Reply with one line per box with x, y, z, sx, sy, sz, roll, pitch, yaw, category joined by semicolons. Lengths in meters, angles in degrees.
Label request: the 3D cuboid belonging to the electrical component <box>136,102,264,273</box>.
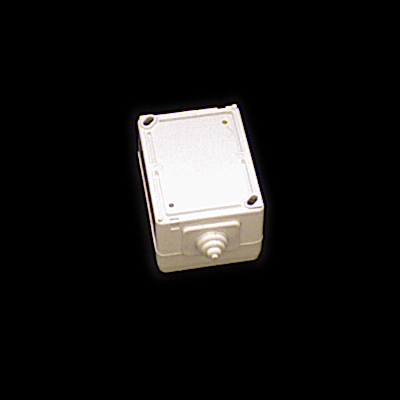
0.000;0.000;0.628;0.062;0.096;0.061;-8;-37;-6;electrical component
